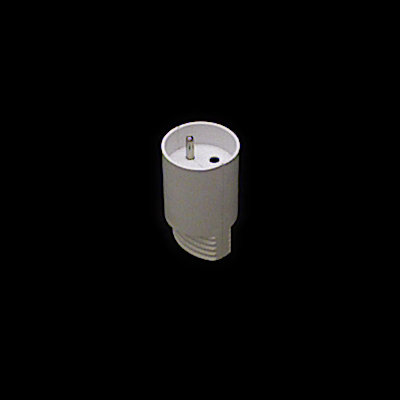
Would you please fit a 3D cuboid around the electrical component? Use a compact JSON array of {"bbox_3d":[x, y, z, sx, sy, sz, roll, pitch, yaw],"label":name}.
[{"bbox_3d":[0.000,0.000,0.622,0.043,0.082,0.042,1,41,0],"label":"electrical component"}]
